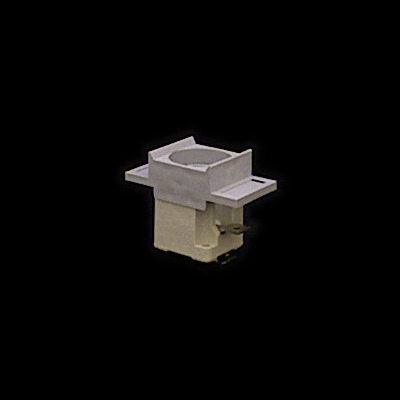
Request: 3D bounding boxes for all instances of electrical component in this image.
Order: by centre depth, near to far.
[{"bbox_3d":[0.000,0.000,0.637,0.080,0.064,0.042,15,24,34],"label":"electrical component"}]
